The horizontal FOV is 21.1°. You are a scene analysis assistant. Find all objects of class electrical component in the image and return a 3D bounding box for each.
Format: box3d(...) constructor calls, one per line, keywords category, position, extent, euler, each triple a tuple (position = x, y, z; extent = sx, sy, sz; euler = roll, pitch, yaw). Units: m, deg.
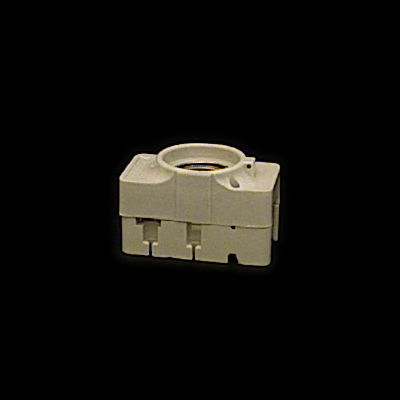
box3d(category="electrical component", position=(0.000, 0.000, 0.646), extent=(0.089, 0.056, 0.050), euler=(4, 22, 8))
